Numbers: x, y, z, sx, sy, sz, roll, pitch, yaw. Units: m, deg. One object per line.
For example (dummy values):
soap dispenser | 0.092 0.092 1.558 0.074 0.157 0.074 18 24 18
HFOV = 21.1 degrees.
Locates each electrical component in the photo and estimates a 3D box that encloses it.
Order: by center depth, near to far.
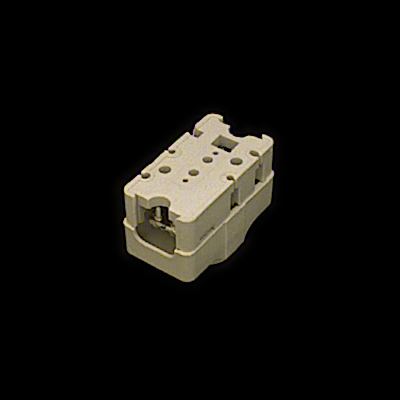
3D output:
electrical component | 0.000 0.000 0.639 0.049 0.056 0.090 25 48 25
